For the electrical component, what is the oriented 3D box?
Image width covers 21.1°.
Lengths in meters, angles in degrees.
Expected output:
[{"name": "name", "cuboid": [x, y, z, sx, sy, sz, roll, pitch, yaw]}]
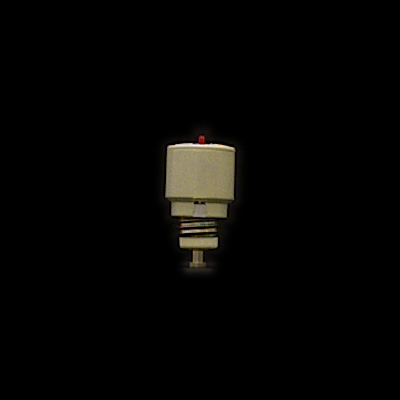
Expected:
[{"name": "electrical component", "cuboid": [0.000, 0.000, 0.647, 0.040, 0.078, 0.040, 1, 1, 0]}]
